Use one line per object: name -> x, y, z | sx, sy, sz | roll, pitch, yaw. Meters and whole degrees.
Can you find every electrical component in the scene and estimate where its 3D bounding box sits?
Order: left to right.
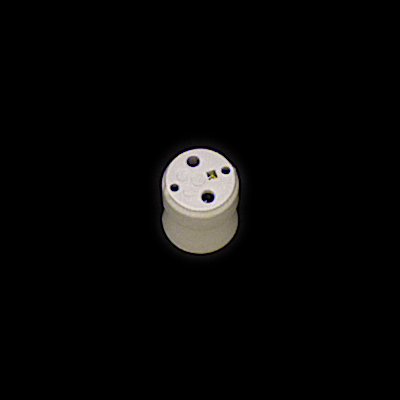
electrical component -> 0.000, 0.000, 0.628 | 0.045, 0.045, 0.055 | 0, -26, 0
